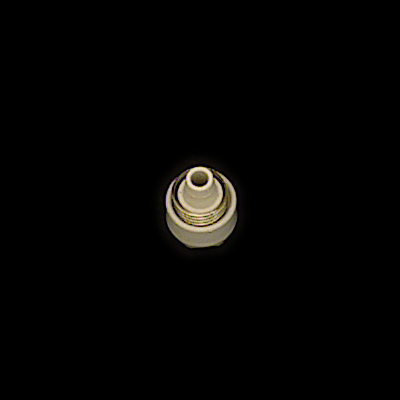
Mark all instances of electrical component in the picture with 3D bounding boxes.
[{"bbox_3d":[0.000,0.000,0.633,0.043,0.043,0.062,0,-26,1],"label":"electrical component"}]
